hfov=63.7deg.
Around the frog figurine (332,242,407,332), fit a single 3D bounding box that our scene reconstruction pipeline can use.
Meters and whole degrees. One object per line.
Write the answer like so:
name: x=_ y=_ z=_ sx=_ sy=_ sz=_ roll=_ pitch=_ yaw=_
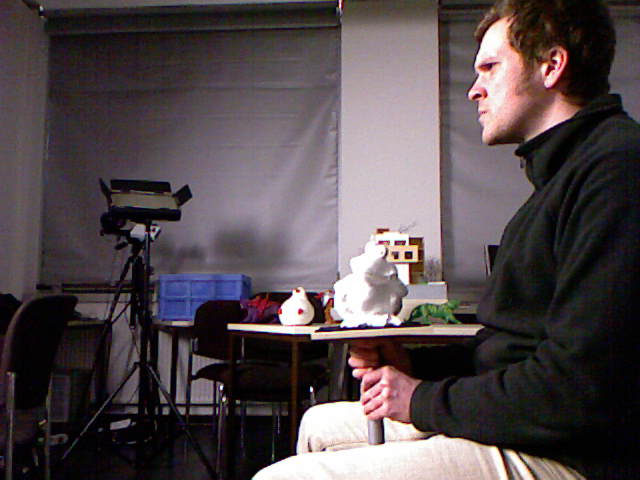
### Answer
frog figurine: x=0.089 y=0.084 z=0.947 sx=0.137 sy=0.160 sz=0.123 roll=-4 pitch=-3 yaw=20
